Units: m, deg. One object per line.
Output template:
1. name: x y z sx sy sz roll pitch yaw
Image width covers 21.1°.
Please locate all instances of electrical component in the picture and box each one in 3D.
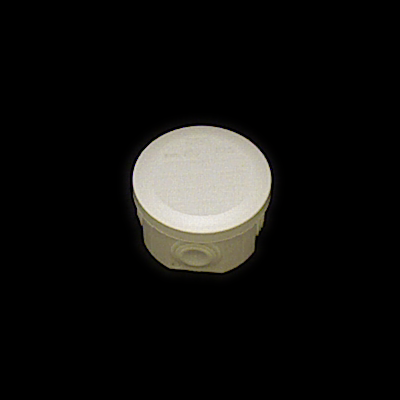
1. electrical component: 0.000 0.000 0.632 0.080 0.080 0.051 0 -38 -1
